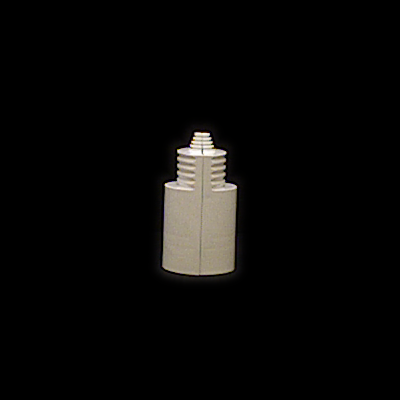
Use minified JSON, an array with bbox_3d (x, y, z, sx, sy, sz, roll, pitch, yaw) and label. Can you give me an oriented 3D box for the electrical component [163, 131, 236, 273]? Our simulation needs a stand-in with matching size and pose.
[{"bbox_3d":[0.000,0.000,0.641,0.043,0.081,0.043,1,11,0],"label":"electrical component"}]
